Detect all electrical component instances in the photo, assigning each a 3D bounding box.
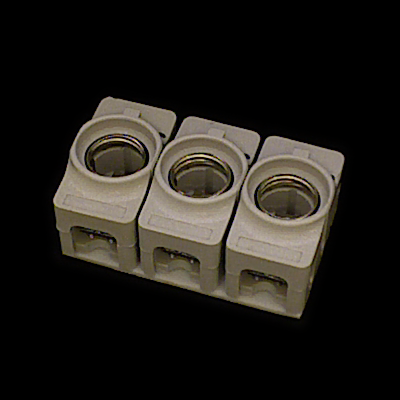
[{"bbox_3d":[0.000,0.000,0.635,0.150,0.088,0.062,14,-37,10],"label":"electrical component"}]
